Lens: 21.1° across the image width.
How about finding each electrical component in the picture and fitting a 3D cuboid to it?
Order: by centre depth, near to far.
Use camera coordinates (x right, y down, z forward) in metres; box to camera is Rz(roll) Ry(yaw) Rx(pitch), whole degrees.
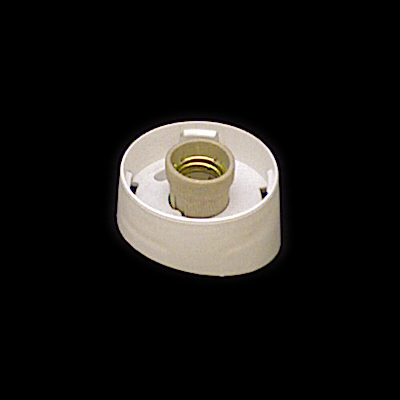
[{"bbox_3d":[0.000,0.000,0.629,0.099,0.064,0.098,1,42,0],"label":"electrical component"}]
